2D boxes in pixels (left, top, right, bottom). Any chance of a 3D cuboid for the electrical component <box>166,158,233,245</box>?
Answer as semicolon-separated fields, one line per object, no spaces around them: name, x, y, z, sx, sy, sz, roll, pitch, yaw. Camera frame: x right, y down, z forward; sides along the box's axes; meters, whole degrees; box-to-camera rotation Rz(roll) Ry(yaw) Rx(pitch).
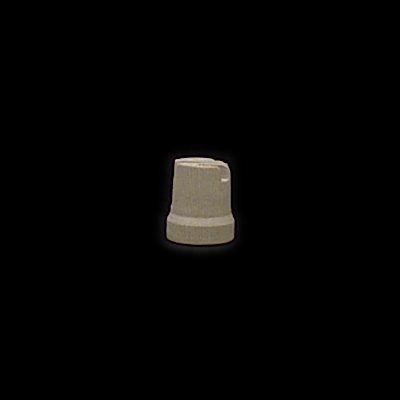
electrical component;0.000;0.000;0.645;0.040;0.046;0.040;1;12;0
